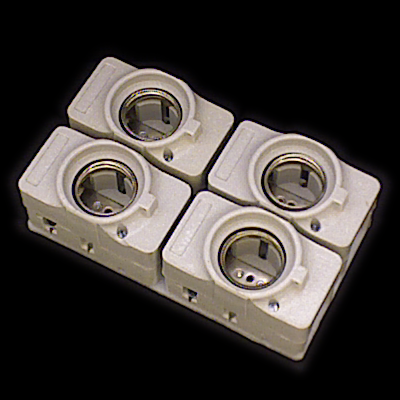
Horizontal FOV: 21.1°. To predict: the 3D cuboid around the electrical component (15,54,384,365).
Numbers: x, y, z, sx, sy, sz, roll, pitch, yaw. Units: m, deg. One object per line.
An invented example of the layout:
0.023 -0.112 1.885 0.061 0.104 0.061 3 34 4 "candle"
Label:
0.000 0.000 0.626 0.186 0.106 0.060 25 -25 12 "electrical component"
